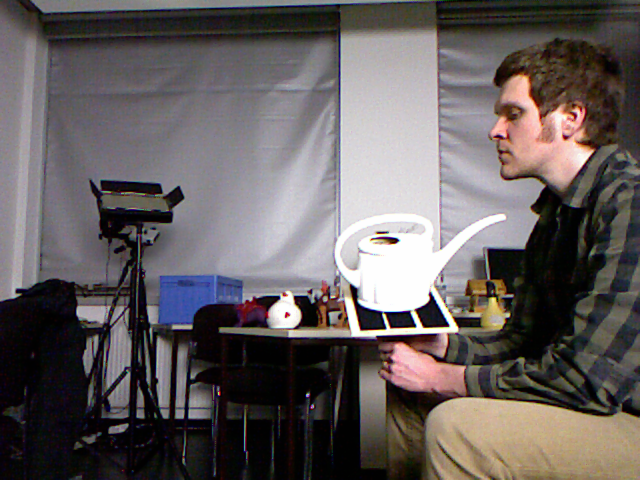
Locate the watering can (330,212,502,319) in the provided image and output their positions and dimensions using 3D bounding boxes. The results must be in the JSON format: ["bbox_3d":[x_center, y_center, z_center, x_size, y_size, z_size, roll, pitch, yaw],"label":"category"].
[{"bbox_3d":[0.193,0.047,1.042,0.348,0.220,0.106,-3,25,-7],"label":"watering can"}]
